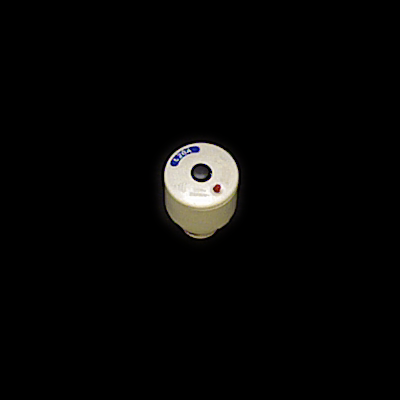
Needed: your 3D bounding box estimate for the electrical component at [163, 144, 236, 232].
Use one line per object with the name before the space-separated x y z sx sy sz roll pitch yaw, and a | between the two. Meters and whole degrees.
electrical component | 0.000 0.000 0.617 0.040 0.040 0.078 0 -27 0
